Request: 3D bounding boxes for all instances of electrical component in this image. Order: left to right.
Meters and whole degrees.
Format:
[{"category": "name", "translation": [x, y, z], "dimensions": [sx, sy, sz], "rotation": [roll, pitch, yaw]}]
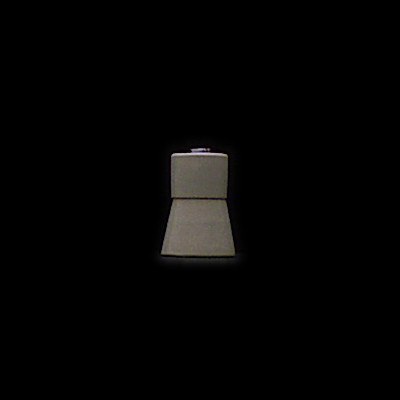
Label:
[{"category": "electrical component", "translation": [0.000, 0.000, 0.649], "dimensions": [0.044, 0.065, 0.044], "rotation": [1, 2, 0]}]
